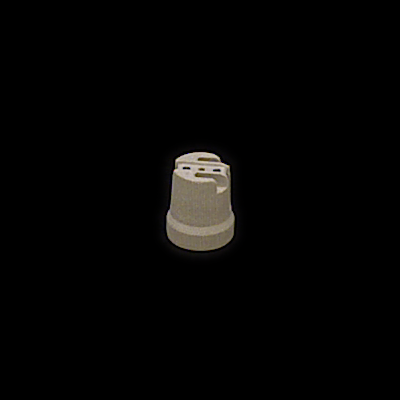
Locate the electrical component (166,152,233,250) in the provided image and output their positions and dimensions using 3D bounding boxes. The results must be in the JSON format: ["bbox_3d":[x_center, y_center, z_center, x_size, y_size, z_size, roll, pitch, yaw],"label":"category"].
[{"bbox_3d":[0.000,0.000,0.637,0.040,0.046,0.040,0,32,0],"label":"electrical component"}]
